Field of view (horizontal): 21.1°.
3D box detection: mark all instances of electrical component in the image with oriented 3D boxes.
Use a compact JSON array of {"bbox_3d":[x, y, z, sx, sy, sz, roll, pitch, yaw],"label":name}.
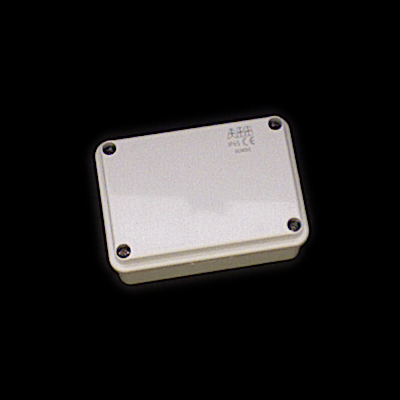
[{"bbox_3d":[0.000,0.000,0.628,0.113,0.078,0.057,-9,-17,-2],"label":"electrical component"}]
